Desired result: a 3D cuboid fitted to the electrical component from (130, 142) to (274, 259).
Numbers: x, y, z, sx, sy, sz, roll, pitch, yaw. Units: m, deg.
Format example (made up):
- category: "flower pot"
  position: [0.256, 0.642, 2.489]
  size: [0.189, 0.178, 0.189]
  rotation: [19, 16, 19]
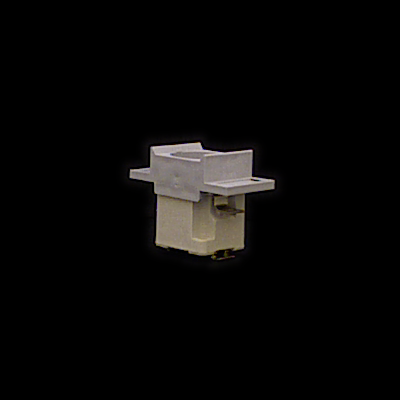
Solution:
- category: "electrical component"
  position: [0.000, 0.000, 0.645]
  size: [0.080, 0.064, 0.042]
  rotation: [12, 16, 43]
